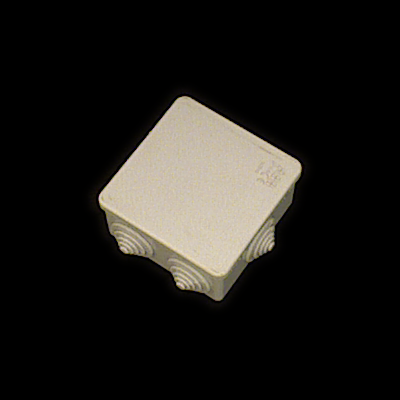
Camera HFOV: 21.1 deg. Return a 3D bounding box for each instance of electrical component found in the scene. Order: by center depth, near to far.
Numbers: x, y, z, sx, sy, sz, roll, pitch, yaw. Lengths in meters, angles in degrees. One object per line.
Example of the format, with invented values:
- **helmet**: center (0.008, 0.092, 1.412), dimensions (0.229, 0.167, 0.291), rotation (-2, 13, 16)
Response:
- **electrical component**: center (0.000, 0.000, 0.640), dimensions (0.099, 0.100, 0.048), rotation (32, -23, 14)
